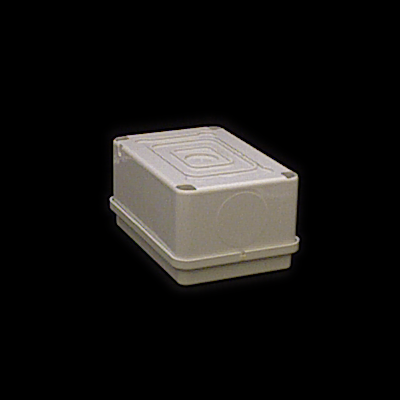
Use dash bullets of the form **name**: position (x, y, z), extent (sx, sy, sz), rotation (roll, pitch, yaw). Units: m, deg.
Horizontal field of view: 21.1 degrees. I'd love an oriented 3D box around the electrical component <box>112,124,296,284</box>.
- **electrical component**: position (0.000, 0.000, 0.639), extent (0.078, 0.058, 0.111), rotation (-8, 23, -23)
